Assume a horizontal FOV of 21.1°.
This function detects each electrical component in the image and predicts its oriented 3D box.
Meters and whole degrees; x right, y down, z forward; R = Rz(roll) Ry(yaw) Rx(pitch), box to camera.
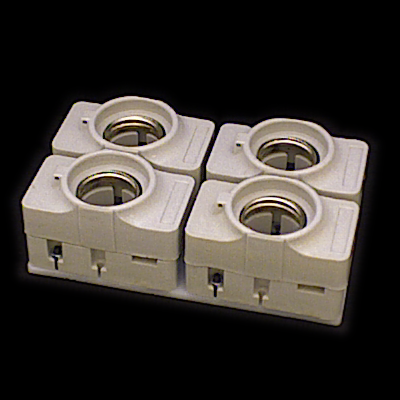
[{"bbox_3d":[0.000,0.000,0.629,0.186,0.061,0.105,9,43,9],"label":"electrical component"}]
